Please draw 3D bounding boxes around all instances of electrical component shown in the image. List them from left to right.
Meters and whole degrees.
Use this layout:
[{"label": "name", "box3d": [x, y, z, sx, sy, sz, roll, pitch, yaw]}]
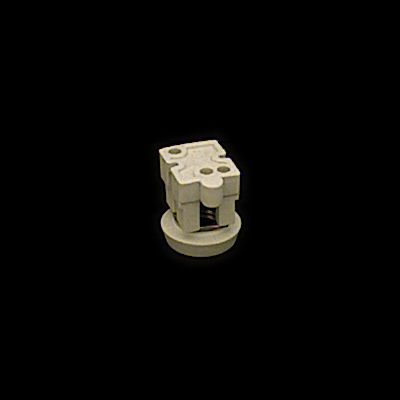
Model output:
[{"label": "electrical component", "box3d": [0.000, 0.000, 0.643, 0.048, 0.056, 0.065, -10, 33, -15]}]
